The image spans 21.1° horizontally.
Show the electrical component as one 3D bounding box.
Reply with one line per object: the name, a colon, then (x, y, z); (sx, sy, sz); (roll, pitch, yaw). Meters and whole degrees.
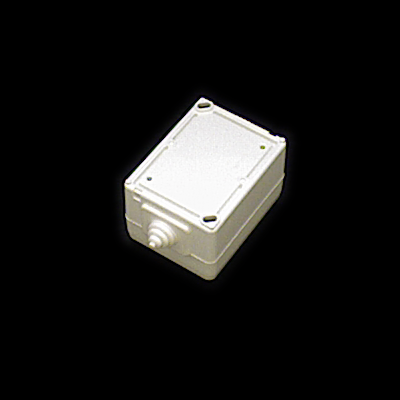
electrical component: (0.000, 0.000, 0.623); (0.061, 0.096, 0.061); (28, -33, 19)
